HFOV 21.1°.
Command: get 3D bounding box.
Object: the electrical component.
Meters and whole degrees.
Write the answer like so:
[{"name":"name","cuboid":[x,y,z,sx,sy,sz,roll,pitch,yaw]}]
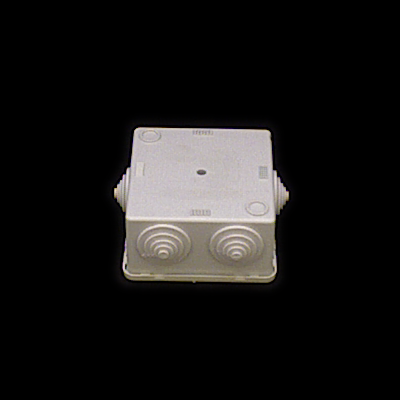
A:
[{"name":"electrical component","cuboid":[0.000,0.000,0.634,0.100,0.049,0.099,1,43,0]}]
